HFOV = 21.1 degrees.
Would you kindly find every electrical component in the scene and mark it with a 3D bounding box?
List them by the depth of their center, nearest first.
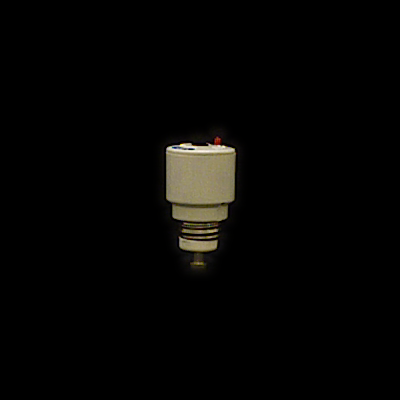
[{"bbox_3d":[0.000,0.000,0.643,0.040,0.079,0.040,1,11,0],"label":"electrical component"}]
